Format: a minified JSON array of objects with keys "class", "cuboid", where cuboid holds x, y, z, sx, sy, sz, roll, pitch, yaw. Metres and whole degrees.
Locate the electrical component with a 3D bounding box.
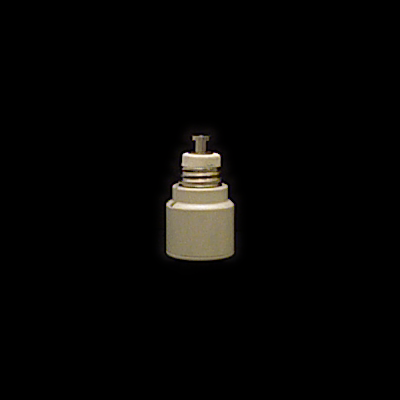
[{"class":"electrical component","cuboid":[0.000,0.000,0.643,0.040,0.079,0.040,1,12,0]}]
